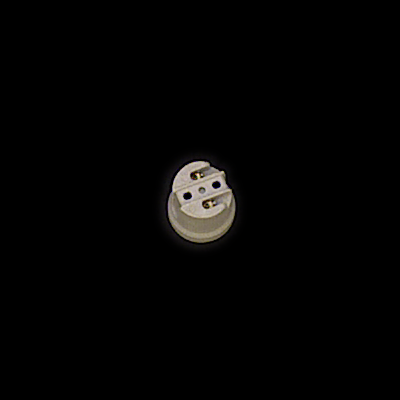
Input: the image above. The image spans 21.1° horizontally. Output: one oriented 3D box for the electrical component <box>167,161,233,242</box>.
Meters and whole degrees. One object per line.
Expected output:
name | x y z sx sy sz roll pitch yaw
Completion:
electrical component | 0.000 0.000 0.633 0.040 0.040 0.046 0 -16 0
